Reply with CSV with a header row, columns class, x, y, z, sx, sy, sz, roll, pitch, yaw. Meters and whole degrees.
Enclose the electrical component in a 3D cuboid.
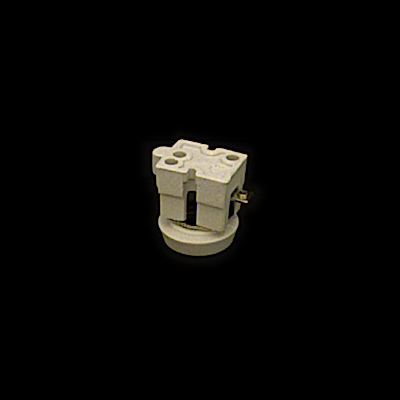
class,x,y,z,sx,sy,sz,roll,pitch,yaw
electrical component,0.000,0.000,0.643,0.066,0.056,0.048,13,33,17
